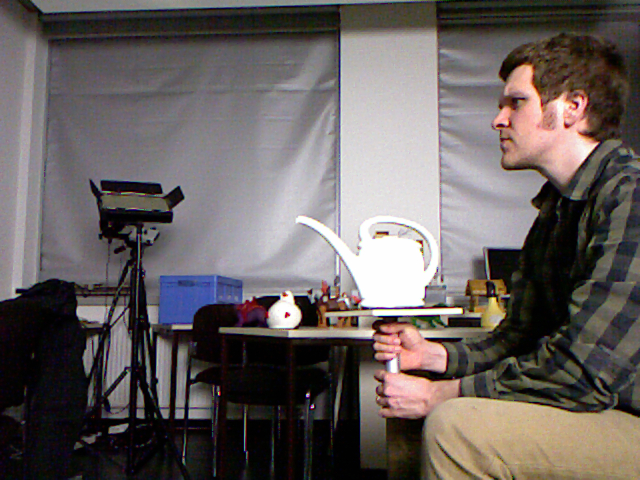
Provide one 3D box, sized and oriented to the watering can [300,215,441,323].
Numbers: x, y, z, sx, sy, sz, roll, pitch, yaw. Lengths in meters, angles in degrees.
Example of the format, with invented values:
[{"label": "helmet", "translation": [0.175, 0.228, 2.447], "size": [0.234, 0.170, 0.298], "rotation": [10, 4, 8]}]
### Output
[{"label": "watering can", "translation": [0.111, 0.057, 1.049], "size": [0.347, 0.226, 0.103], "rotation": [4, -7, -29]}]
